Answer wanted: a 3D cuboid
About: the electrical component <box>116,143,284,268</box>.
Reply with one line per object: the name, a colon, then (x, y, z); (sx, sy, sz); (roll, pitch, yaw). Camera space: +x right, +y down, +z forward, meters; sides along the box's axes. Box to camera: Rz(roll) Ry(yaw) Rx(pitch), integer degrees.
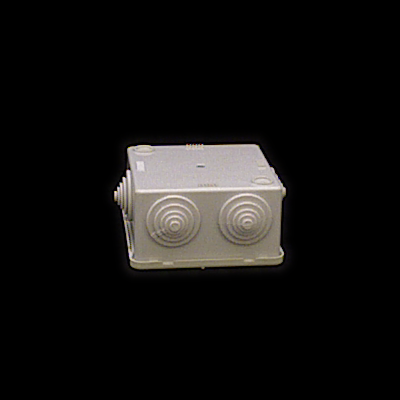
electrical component: (0.000, 0.000, 0.641); (0.100, 0.049, 0.098); (-1, 21, -7)
